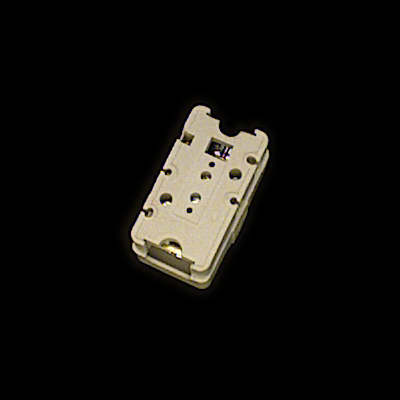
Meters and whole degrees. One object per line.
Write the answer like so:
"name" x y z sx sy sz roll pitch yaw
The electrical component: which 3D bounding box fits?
"electrical component" 0.000 0.000 0.636 0.050 0.090 0.055 24 -15 8
